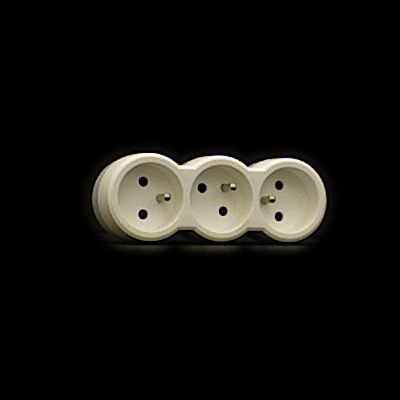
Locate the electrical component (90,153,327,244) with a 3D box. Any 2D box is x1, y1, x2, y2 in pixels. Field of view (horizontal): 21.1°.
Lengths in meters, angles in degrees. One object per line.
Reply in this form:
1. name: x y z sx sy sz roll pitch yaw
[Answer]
1. electrical component: 0.000 0.000 0.660 0.139 0.052 0.073 1 0 -20
